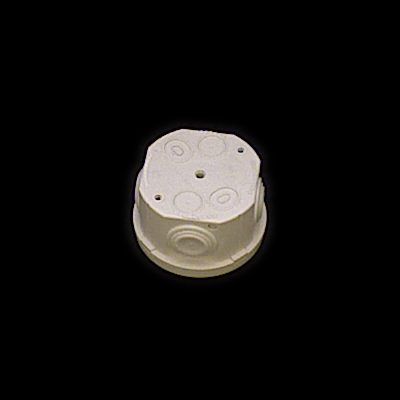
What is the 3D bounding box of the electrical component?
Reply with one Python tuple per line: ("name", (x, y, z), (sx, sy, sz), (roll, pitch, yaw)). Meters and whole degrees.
("electrical component", (0.000, 0.000, 0.633), (0.080, 0.080, 0.051), (0, -38, -1))
